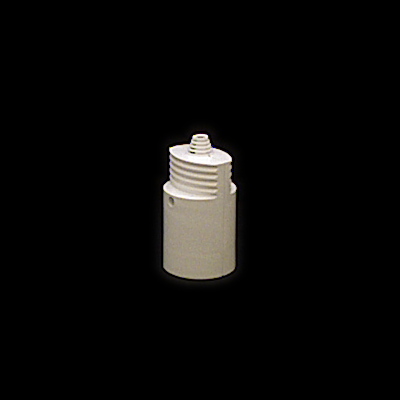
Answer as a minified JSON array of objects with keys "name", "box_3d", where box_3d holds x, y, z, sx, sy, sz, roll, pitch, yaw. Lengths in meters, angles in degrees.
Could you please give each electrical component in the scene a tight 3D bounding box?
[{"name":"electrical component","box_3d":[0.000,0.000,0.635,0.043,0.082,0.042,1,21,0]}]
